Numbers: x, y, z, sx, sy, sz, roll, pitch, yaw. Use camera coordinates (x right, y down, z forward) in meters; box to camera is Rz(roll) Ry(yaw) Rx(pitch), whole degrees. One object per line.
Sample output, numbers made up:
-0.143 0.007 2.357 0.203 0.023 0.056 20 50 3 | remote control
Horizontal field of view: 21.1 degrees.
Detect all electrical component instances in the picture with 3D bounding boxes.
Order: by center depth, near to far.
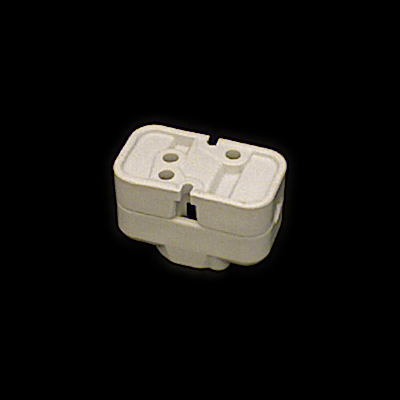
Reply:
0.000 0.000 0.636 0.095 0.060 0.053 13 44 12 | electrical component
